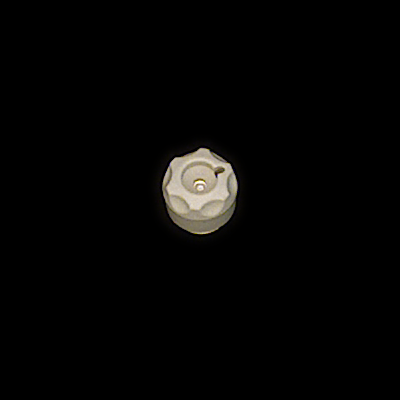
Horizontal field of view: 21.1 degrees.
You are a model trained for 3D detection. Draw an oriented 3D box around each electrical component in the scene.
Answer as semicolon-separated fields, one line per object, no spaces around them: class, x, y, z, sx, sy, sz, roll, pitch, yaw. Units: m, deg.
electrical component;0.000;0.000;0.633;0.043;0.043;0.062;0;-26;1
